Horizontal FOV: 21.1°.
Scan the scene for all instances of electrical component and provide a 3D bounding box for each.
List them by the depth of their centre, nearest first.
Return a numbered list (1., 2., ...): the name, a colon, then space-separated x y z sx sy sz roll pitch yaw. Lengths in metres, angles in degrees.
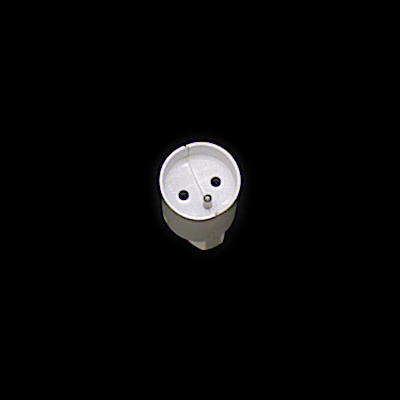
1. electrical component: 0.000 0.000 0.615 0.043 0.043 0.080 0 -16 0
